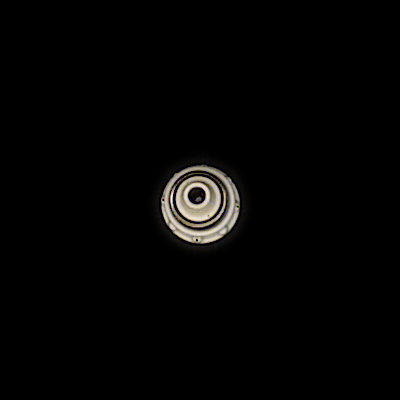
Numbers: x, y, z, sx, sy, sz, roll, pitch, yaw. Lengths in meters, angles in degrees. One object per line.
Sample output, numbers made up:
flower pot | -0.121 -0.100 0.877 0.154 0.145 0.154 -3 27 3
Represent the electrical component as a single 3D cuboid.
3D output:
electrical component | 0.000 0.000 0.635 0.048 0.048 0.062 0 -6 1
